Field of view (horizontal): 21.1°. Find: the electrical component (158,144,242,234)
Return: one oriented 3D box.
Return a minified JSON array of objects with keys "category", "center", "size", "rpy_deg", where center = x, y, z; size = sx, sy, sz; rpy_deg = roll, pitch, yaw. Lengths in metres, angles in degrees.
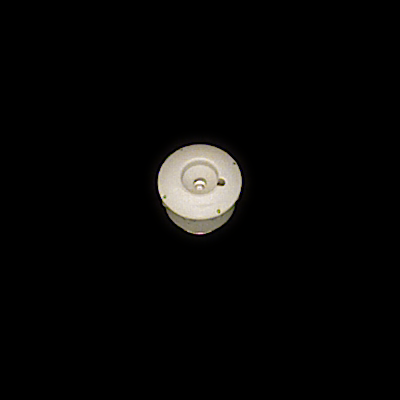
[{"category":"electrical component","center":[0.000,0.000,0.635],"size":[0.048,0.048,0.062],"rpy_deg":[0,-27,0]}]
